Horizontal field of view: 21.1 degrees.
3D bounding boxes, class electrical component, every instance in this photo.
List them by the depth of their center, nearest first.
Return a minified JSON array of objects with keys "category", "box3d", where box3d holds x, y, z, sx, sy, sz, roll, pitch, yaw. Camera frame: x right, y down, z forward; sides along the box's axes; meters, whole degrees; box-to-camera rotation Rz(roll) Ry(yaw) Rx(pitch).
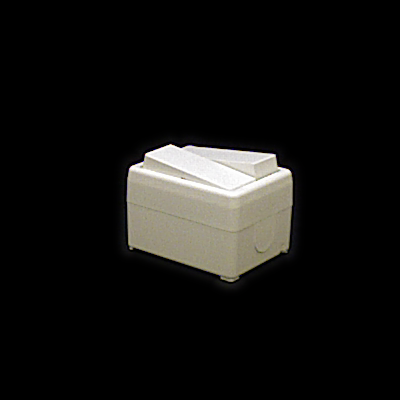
[{"category":"electrical component","box3d":[0.000,0.000,0.640,0.095,0.061,0.061,16,26,34]}]
